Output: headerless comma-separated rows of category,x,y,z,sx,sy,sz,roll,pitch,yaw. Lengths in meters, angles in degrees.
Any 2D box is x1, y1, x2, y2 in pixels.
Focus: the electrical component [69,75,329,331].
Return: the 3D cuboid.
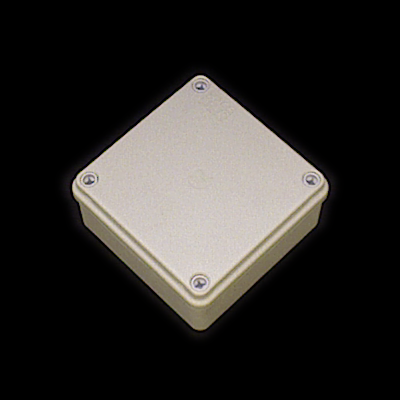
electrical component,0.000,0.000,0.628,0.109,0.108,0.056,-42,-20,-19
